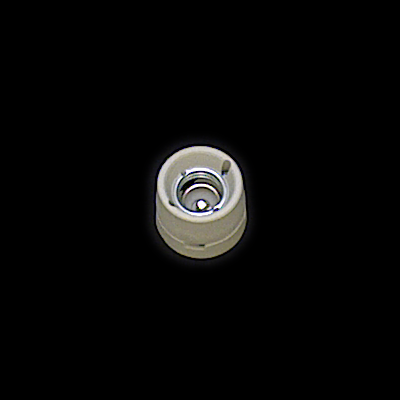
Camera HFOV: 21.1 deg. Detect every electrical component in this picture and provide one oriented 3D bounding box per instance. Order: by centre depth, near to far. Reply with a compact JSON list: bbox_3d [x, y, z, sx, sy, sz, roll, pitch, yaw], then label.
[{"bbox_3d":[0.000,0.000,0.632,0.055,0.056,0.047,0,-27,1],"label":"electrical component"}]
